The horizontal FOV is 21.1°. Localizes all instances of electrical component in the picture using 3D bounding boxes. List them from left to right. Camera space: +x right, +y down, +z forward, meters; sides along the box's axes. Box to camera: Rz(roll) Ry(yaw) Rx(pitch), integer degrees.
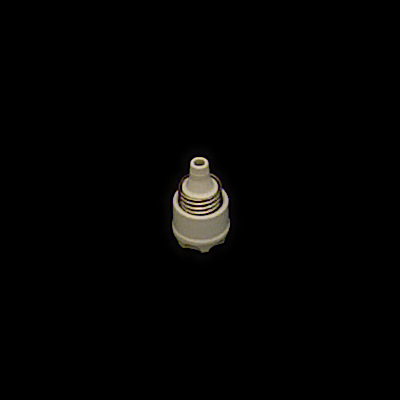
[{"bbox_3d":[0.000,0.000,0.642,0.035,0.062,0.035,-1,43,1],"label":"electrical component"}]
